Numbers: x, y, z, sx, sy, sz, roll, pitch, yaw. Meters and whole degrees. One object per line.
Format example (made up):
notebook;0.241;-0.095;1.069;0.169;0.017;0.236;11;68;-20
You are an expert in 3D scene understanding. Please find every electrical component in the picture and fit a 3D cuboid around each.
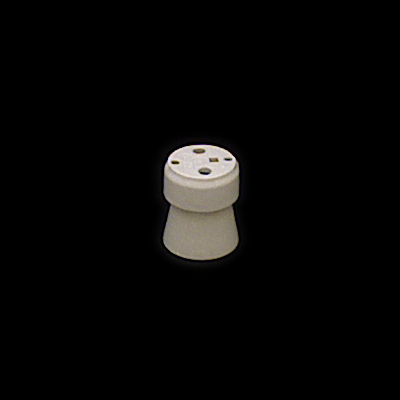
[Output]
electrical component;0.000;0.000;0.634;0.045;0.056;0.044;0;32;0
